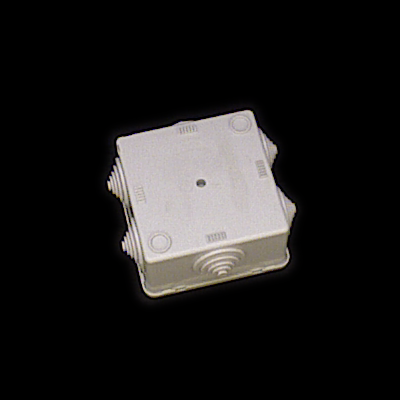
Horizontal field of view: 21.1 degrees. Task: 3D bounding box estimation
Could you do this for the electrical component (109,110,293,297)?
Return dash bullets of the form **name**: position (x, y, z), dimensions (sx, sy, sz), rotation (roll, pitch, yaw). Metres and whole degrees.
- **electrical component**: position (0.000, 0.000, 0.632), dimensions (0.100, 0.099, 0.048), rotation (-12, -26, -7)
